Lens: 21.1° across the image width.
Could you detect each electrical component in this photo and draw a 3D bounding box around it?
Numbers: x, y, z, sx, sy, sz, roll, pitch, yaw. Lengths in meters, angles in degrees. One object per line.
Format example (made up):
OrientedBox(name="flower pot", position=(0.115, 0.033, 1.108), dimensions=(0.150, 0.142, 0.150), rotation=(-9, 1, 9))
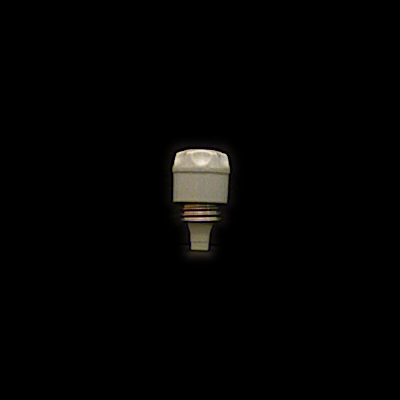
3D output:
OrientedBox(name="electrical component", position=(0.000, 0.000, 0.659), dimensions=(0.035, 0.061, 0.035), rotation=(1, 1, 0))
